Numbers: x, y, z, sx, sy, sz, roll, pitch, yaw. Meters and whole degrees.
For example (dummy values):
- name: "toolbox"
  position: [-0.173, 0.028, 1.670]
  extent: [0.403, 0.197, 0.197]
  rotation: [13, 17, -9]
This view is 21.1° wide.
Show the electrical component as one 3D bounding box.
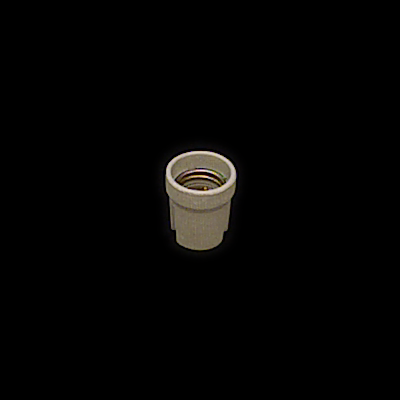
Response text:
- name: "electrical component"
  position: [0.000, 0.000, 0.633]
  extent: [0.040, 0.047, 0.039]
  rotation: [1, 42, 0]
